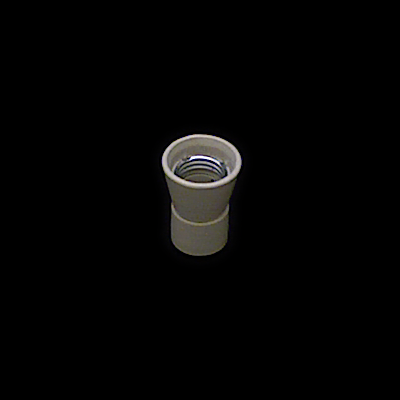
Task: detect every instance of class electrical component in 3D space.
[{"bbox_3d":[0.000,0.000,0.628,0.044,0.066,0.044,1,43,-1],"label":"electrical component"}]
